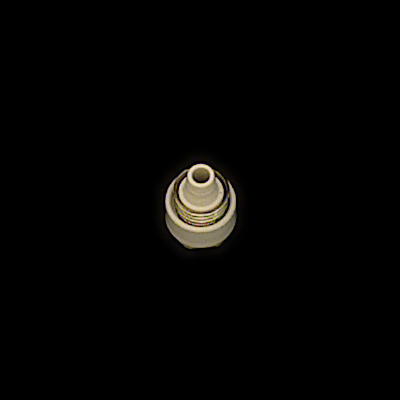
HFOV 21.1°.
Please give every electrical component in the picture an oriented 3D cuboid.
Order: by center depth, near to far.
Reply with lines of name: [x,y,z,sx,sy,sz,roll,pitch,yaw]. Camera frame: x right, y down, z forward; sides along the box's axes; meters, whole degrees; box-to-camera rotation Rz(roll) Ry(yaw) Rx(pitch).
electrical component: [0.000,0.000,0.634,0.043,0.043,0.062,0,-28,0]
